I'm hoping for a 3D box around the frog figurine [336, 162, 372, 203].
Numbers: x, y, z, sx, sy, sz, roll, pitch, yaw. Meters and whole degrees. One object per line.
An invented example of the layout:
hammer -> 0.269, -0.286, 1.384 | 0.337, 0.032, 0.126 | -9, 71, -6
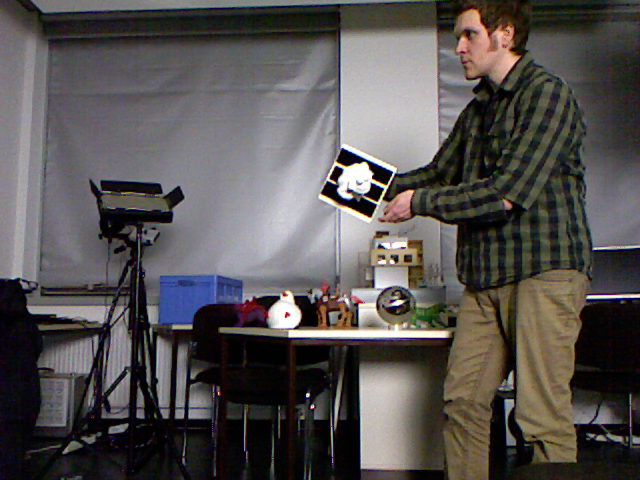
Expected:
frog figurine -> 0.111, -0.193, 1.691 | 0.137, 0.123, 0.159 | -45, -6, 6
